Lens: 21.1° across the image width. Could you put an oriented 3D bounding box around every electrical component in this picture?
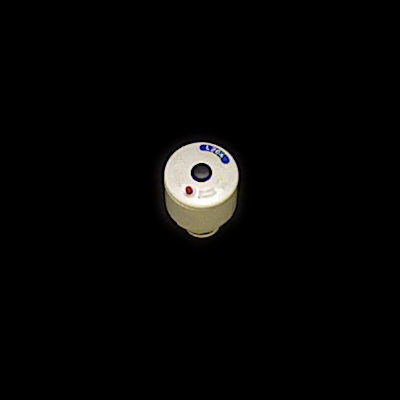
[{"bbox_3d":[0.000,0.000,0.617,0.040,0.040,0.078,0,-27,0],"label":"electrical component"}]
